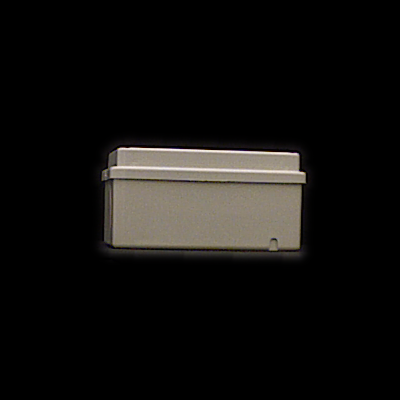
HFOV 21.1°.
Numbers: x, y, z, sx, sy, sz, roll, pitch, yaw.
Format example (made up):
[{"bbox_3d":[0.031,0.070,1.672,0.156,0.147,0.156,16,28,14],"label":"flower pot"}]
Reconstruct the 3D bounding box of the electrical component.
[{"bbox_3d":[0.000,0.000,0.647,0.113,0.057,0.078,1,0,-9],"label":"electrical component"}]
